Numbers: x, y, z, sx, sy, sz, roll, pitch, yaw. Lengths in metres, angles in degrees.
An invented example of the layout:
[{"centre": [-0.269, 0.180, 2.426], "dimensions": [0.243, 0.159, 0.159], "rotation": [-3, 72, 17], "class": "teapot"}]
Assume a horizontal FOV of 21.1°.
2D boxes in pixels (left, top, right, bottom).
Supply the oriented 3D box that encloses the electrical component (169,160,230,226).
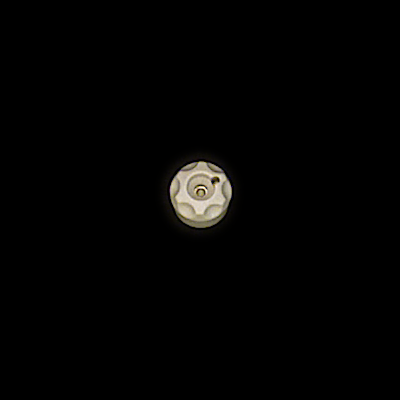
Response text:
[{"centre": [0.000, 0.000, 0.633], "dimensions": [0.035, 0.035, 0.061], "rotation": [0, -16, 1], "class": "electrical component"}]
